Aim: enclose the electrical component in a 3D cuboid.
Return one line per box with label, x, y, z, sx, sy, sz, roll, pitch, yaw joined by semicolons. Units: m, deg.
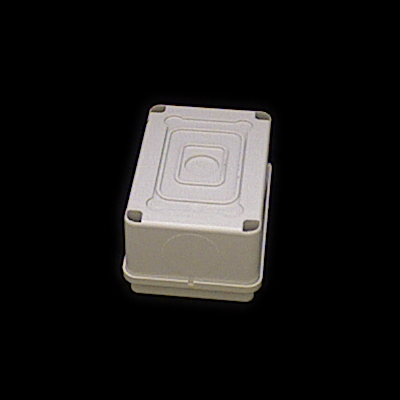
electrical component;0.000;0.000;0.631;0.078;0.057;0.112;5;43;4
